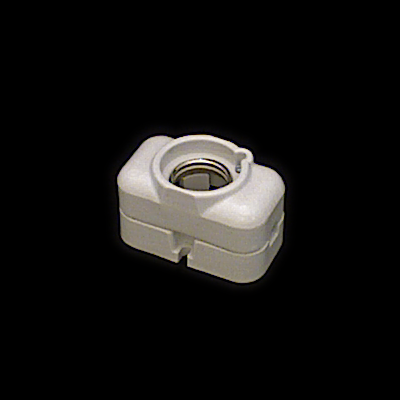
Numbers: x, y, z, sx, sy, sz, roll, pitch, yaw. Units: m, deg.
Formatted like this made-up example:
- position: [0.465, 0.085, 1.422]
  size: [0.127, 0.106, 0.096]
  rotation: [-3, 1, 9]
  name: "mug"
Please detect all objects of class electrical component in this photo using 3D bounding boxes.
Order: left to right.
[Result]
- position: [0.000, 0.000, 0.639]
  size: [0.094, 0.060, 0.053]
  rotation: [18, 46, 17]
  name: "electrical component"
